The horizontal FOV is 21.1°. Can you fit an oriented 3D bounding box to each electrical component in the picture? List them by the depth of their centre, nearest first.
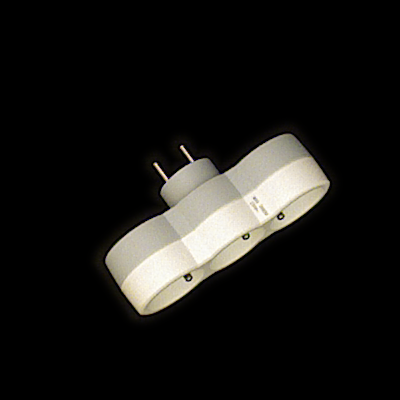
[{"bbox_3d":[0.000,0.000,0.639,0.139,0.073,0.052,-33,-15,-9],"label":"electrical component"}]
